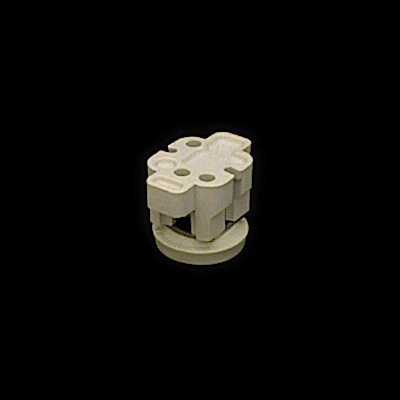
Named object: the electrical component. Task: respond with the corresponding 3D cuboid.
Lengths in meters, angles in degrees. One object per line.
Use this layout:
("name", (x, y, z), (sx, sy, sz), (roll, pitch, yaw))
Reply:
("electrical component", (0.000, 0.000, 0.644), (0.057, 0.057, 0.078), (19, 35, 27))
